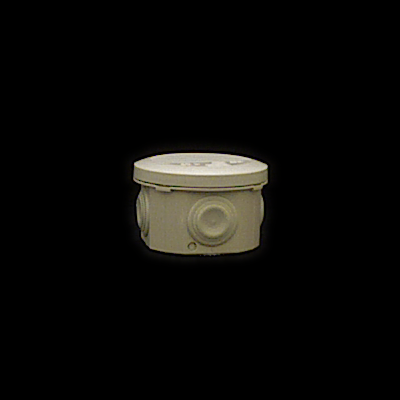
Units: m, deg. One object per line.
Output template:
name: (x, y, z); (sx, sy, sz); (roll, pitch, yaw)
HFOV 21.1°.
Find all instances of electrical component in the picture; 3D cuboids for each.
electrical component: (0.000, 0.000, 0.643); (0.080, 0.051, 0.079); (1, 10, 0)
